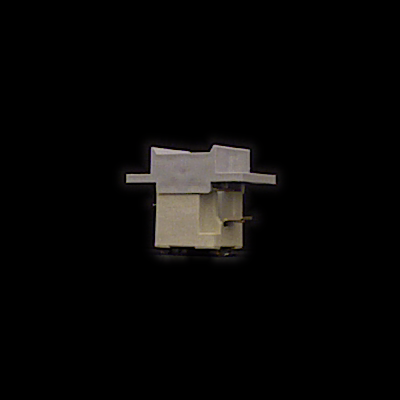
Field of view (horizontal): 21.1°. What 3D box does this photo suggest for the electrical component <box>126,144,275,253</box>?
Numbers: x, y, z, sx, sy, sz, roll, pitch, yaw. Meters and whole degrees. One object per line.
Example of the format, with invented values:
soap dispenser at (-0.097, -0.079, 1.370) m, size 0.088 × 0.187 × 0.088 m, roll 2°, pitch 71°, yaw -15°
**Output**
electrical component at (0.000, 0.000, 0.649) m, size 0.081 × 0.063 × 0.042 m, roll 1°, pitch 0°, yaw 31°
